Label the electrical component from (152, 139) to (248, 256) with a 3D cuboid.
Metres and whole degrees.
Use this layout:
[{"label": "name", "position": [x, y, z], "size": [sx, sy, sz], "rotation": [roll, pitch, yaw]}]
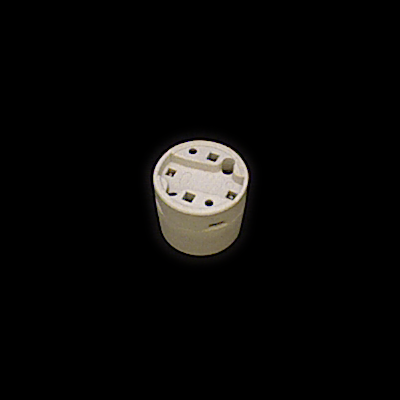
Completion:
[{"label": "electrical component", "position": [0.000, 0.000, 0.635], "size": [0.055, 0.055, 0.047], "rotation": [0, -38, 0]}]
